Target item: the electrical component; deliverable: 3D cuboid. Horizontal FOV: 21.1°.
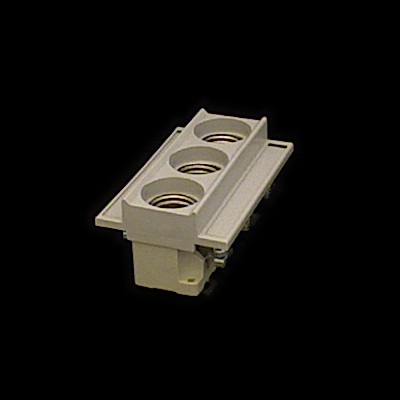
[{"bbox_3d":[0.000,0.000,0.646,0.078,0.064,0.120,11,33,19],"label":"electrical component"}]
